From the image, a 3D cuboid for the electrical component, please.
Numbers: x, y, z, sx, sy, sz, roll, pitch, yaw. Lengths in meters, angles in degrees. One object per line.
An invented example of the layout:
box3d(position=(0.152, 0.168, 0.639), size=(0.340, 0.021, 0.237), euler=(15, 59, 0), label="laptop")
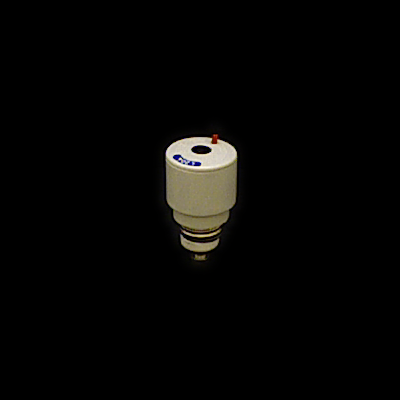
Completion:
box3d(position=(0.000, 0.000, 0.631), size=(0.040, 0.079, 0.039), euler=(1, 31, 0), label="electrical component")
